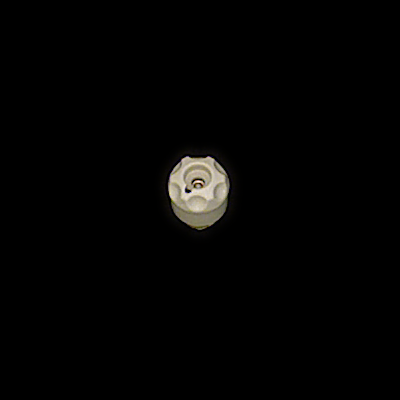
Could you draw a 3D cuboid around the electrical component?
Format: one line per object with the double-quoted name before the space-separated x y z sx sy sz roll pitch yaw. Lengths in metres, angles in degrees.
"electrical component" 0.000 0.000 0.633 0.035 0.035 0.061 0 -27 1
